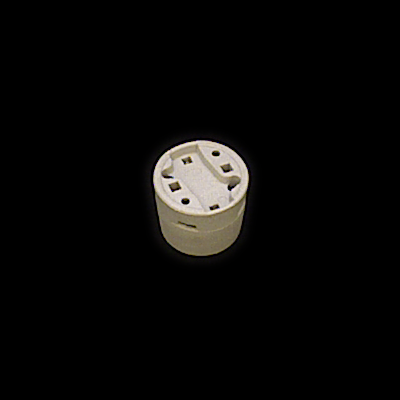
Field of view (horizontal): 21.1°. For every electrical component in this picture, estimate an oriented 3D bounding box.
[{"bbox_3d":[0.000,0.000,0.634,0.055,0.055,0.047,0,-38,0],"label":"electrical component"}]
